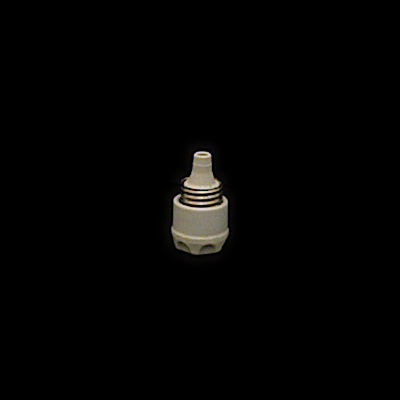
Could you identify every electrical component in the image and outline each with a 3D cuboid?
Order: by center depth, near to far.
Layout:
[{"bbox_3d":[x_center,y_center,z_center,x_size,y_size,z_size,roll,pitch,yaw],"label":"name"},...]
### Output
[{"bbox_3d":[0.000,0.000,0.653,0.035,0.062,0.034,2,22,-1],"label":"electrical component"}]
